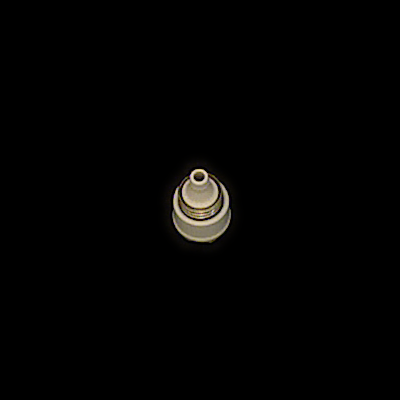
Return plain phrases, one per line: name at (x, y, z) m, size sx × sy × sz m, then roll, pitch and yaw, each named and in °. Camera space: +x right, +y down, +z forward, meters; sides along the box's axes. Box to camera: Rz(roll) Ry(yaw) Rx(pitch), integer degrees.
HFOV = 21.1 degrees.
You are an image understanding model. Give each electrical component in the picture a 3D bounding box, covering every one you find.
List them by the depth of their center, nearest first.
electrical component at (0.000, 0.000, 0.637) m, size 0.035 × 0.035 × 0.061 m, roll 0°, pitch -28°, yaw 2°
